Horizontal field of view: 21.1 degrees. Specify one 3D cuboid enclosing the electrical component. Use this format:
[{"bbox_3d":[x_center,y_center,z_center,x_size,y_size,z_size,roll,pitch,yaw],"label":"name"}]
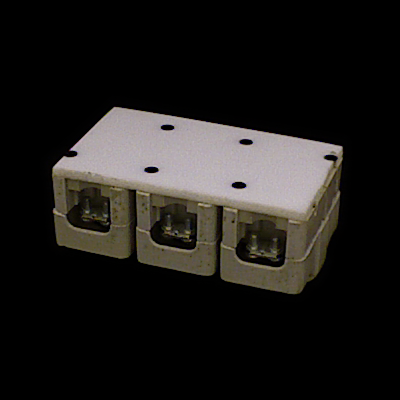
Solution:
[{"bbox_3d":[0.000,0.000,0.639,0.149,0.063,0.088,11,32,17],"label":"electrical component"}]
